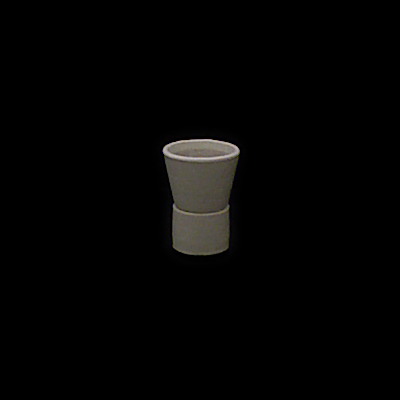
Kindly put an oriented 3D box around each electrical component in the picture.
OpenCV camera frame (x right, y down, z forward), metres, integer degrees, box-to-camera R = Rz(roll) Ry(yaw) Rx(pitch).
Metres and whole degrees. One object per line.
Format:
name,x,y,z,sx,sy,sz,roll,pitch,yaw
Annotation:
electrical component,0.000,0.000,0.640,0.044,0.066,0.044,0,20,0
